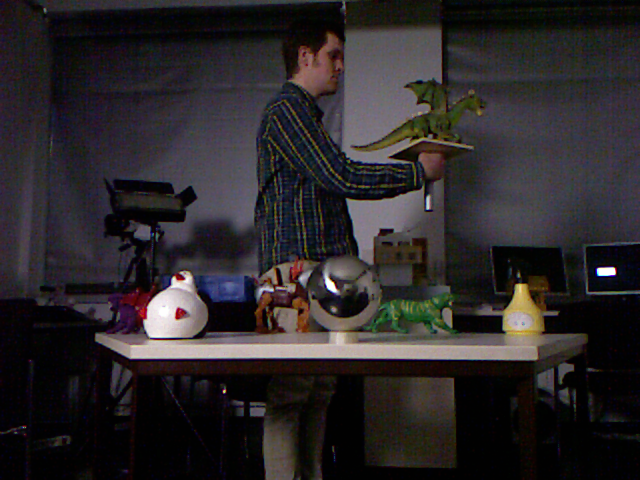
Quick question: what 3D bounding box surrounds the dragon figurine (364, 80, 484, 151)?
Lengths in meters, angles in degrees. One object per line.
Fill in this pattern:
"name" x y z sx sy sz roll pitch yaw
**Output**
"dragon figurine" 0.359 -0.430 1.780 0.410 0.245 0.121 0 -9 7
